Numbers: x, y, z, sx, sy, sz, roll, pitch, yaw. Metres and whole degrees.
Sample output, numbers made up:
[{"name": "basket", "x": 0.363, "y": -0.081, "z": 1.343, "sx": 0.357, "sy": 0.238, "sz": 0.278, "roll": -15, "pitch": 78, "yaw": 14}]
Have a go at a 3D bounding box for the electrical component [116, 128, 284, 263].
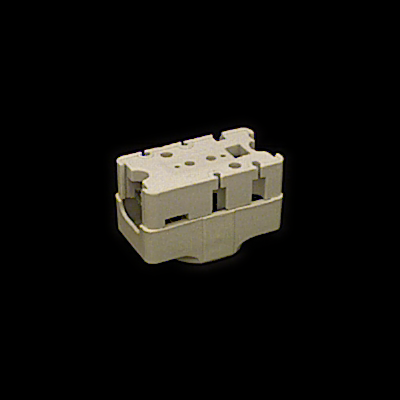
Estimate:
[{"name": "electrical component", "x": 0.000, "y": 0.000, "z": 0.643, "sx": 0.090, "sy": 0.056, "sz": 0.049, "roll": -14, "pitch": 35, "yaw": -24}]
